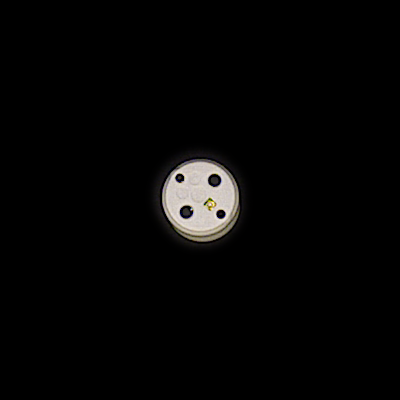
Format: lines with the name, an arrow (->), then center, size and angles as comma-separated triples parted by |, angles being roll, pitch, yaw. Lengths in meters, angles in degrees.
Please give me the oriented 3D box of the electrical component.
electrical component -> 0.000, 0.000, 0.629 | 0.045, 0.045, 0.055 | 0, -6, 1
